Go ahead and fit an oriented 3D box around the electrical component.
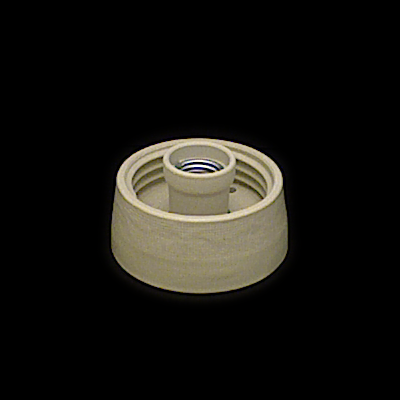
[{"bbox_3d":[0.000,0.000,0.641,0.108,0.061,0.106,1,32,0],"label":"electrical component"}]
